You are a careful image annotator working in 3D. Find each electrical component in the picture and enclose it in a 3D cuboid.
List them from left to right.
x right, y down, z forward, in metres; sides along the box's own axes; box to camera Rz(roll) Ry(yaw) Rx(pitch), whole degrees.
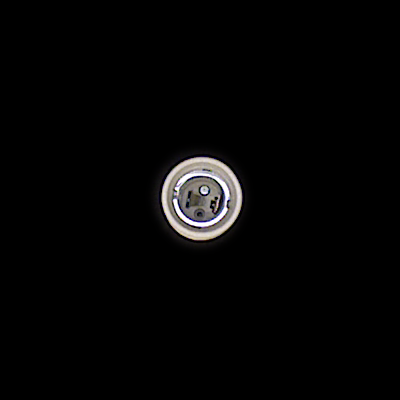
[{"bbox_3d":[0.000,0.000,0.629,0.045,0.045,0.055,0,-6,0],"label":"electrical component"}]
